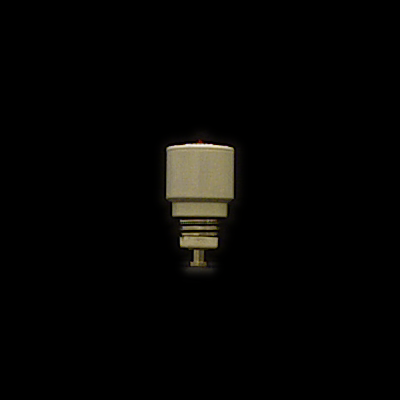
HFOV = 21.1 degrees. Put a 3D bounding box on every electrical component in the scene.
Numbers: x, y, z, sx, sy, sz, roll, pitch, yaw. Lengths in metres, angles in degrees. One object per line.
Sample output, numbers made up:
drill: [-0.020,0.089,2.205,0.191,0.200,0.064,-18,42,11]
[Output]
electrical component: [0.000,0.000,0.652,0.040,0.078,0.040,1,1,0]
